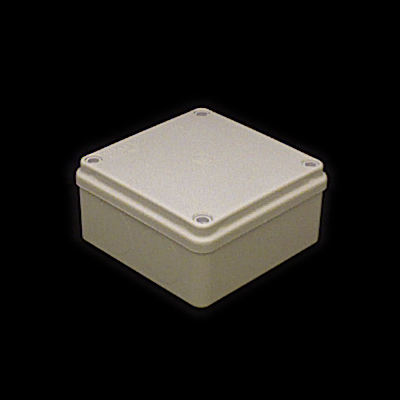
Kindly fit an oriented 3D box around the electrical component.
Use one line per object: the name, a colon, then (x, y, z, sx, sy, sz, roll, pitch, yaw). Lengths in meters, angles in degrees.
electrical component: (0.000, 0.000, 0.635, 0.108, 0.057, 0.108, 29, 41, 36)
